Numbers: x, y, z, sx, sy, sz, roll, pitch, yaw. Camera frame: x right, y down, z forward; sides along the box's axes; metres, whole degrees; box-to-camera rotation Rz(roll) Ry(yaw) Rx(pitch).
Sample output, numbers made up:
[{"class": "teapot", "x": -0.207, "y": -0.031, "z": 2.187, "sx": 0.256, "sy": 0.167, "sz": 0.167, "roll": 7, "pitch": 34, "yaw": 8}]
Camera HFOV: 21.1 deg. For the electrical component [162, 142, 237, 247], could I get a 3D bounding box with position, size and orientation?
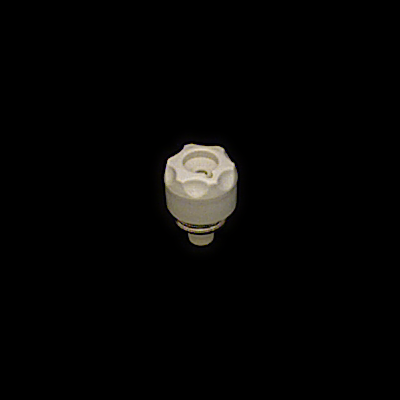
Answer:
[{"class": "electrical component", "x": 0.000, "y": 0.000, "z": 0.638, "sx": 0.043, "sy": 0.062, "sz": 0.043, "roll": 0, "pitch": 42, "yaw": 1}]
